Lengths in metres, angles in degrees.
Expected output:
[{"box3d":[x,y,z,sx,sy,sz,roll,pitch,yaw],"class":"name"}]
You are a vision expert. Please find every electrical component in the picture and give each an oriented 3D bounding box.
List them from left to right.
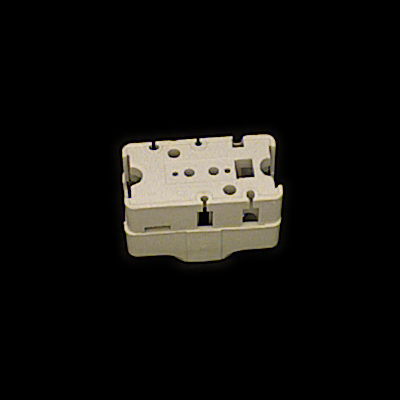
[{"box3d":[0.000,0.000,0.638,0.090,0.050,0.056,-3,-38,-4],"class":"electrical component"}]
